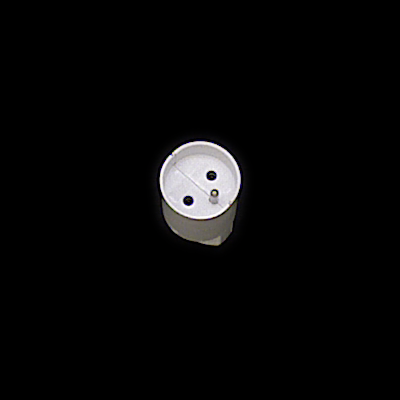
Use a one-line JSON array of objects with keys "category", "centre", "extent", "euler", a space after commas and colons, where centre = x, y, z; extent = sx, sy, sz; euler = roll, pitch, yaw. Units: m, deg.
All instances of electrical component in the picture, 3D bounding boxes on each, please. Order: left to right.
[{"category": "electrical component", "centre": [0.000, 0.000, 0.615], "extent": [0.043, 0.043, 0.080], "euler": [0, -16, 0]}]
